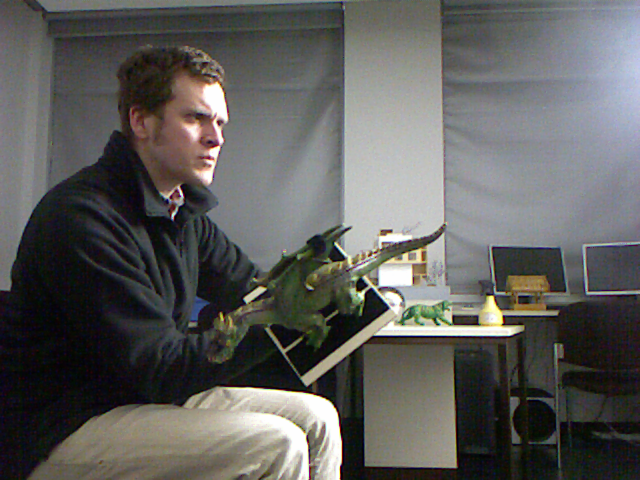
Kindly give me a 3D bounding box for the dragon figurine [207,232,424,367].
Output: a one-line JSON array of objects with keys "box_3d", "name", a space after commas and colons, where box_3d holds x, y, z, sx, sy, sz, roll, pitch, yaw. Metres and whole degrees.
[{"box_3d": [-0.001, 0.064, 0.813, 0.414, 0.124, 0.240, -36, -22, -7], "name": "dragon figurine"}]
